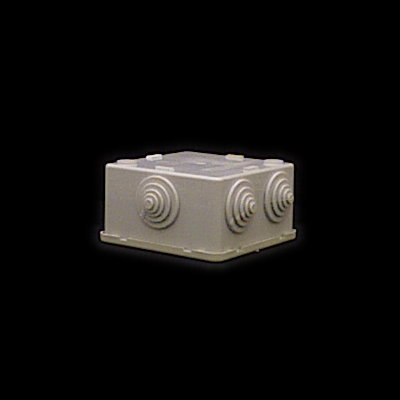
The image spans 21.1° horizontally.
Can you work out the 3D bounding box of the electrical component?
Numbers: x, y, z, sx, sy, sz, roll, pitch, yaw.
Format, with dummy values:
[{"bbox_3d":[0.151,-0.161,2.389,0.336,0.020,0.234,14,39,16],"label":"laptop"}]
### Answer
[{"bbox_3d":[0.000,0.000,0.646,0.099,0.049,0.099,9,13,35],"label":"electrical component"}]
